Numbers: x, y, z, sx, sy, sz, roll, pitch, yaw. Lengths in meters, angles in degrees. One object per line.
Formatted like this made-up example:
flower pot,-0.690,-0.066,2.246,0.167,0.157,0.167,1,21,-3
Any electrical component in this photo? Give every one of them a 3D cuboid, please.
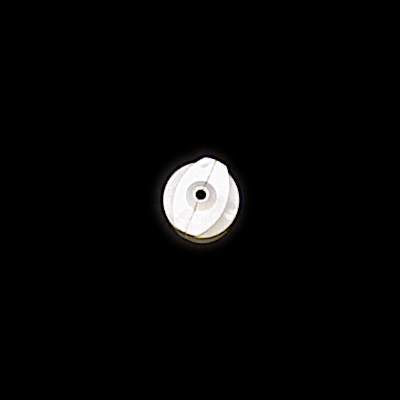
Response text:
electrical component,0.000,0.000,0.616,0.043,0.043,0.080,0,-6,1
